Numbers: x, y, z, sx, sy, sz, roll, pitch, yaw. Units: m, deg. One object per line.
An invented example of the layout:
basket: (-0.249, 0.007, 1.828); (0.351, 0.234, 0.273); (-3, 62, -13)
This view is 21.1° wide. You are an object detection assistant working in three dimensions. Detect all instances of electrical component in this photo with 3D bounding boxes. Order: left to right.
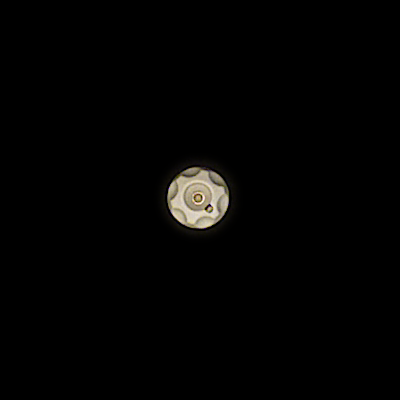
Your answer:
electrical component: (0.000, 0.000, 0.634); (0.035, 0.035, 0.061); (0, -5, 1)
